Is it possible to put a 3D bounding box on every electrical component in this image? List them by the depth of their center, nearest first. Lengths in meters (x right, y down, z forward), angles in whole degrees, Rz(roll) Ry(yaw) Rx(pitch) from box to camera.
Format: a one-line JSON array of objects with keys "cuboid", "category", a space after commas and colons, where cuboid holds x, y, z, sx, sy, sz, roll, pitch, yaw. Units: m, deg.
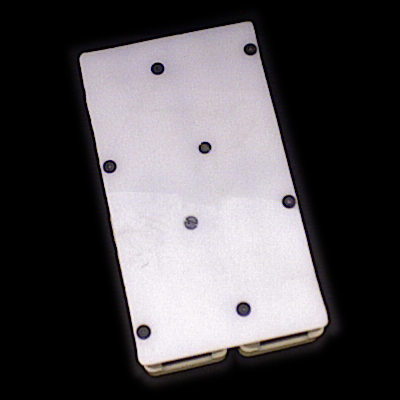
[{"cuboid": [0.000, 0.000, 0.625, 0.105, 0.187, 0.060, -12, -16, -4], "category": "electrical component"}]
